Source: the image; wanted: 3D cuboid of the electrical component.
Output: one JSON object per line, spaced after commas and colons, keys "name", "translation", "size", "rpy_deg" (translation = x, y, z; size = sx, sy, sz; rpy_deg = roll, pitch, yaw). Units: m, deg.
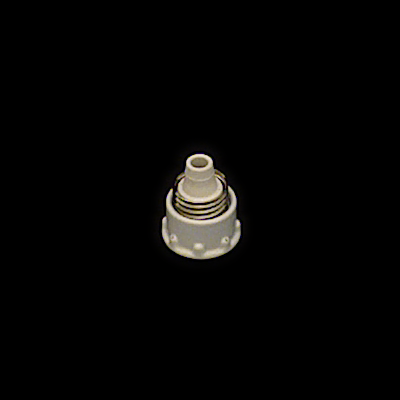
{"name": "electrical component", "translation": [0.000, 0.000, 0.636], "size": [0.048, 0.062, 0.047], "rpy_deg": [0, 42, 1]}
